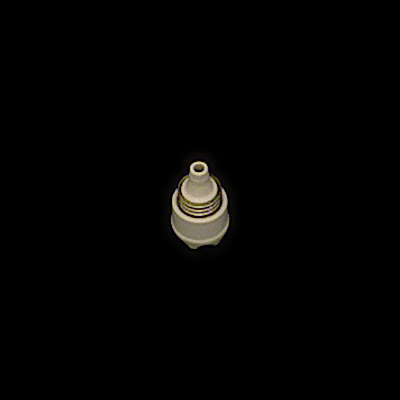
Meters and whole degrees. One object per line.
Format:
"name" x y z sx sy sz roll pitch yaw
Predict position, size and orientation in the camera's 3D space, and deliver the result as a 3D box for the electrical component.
"electrical component" 0.000 0.000 0.638 0.035 0.035 0.062 0 -39 0
